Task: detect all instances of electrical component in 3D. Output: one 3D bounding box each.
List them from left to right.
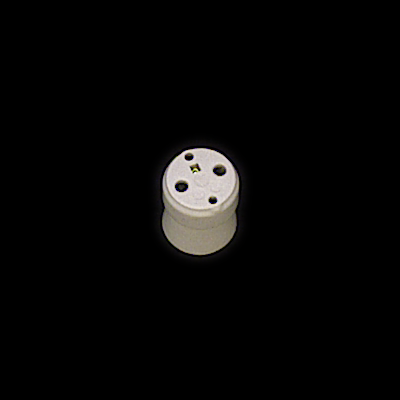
[{"bbox_3d":[0.000,0.000,0.629,0.045,0.045,0.055,0,-27,-1],"label":"electrical component"}]
